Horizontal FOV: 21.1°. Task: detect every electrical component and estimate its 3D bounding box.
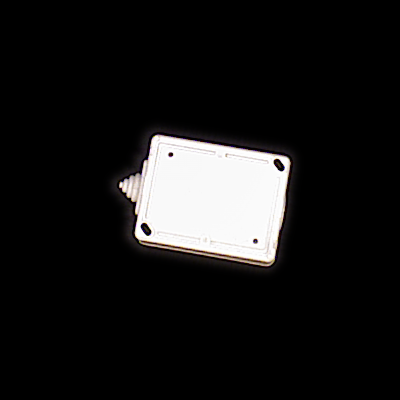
[{"bbox_3d":[0.000,0.000,0.630,0.096,0.062,0.061,10,-7,2],"label":"electrical component"}]
